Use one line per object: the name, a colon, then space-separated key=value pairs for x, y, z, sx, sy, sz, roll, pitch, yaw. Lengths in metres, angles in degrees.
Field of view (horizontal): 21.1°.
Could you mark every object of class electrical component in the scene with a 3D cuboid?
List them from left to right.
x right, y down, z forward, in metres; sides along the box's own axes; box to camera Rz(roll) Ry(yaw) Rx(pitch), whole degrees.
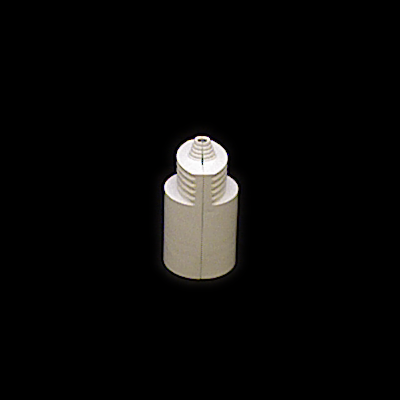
electrical component: x=0.000 y=0.000 z=0.628 sx=0.043 sy=0.082 sz=0.042 roll=1 pitch=31 yaw=0
